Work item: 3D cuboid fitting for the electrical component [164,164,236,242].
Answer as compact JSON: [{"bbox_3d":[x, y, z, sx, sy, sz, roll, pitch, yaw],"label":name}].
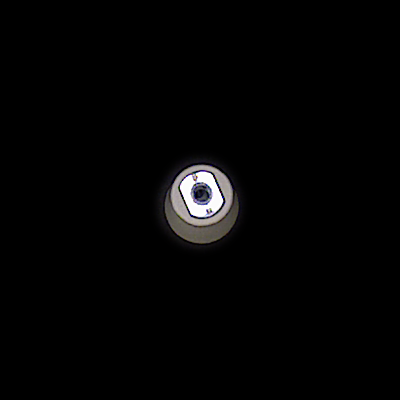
[{"bbox_3d":[0.000,0.000,0.626,0.044,0.044,0.065,0,-7,0],"label":"electrical component"}]
